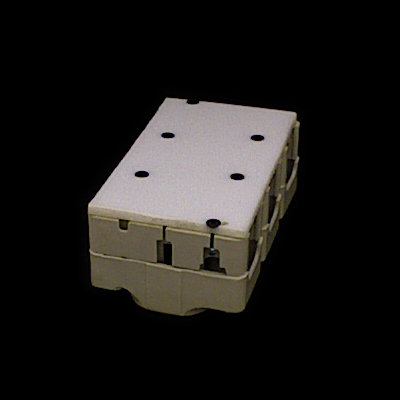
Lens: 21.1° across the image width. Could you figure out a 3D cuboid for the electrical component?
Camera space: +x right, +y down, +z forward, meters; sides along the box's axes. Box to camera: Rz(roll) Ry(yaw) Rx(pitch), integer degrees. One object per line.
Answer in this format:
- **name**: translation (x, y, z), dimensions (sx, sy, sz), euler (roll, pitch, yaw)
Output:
- **electrical component**: translation (0.000, 0.000, 0.643), dimensions (0.089, 0.063, 0.147), euler (9, 32, 13)
